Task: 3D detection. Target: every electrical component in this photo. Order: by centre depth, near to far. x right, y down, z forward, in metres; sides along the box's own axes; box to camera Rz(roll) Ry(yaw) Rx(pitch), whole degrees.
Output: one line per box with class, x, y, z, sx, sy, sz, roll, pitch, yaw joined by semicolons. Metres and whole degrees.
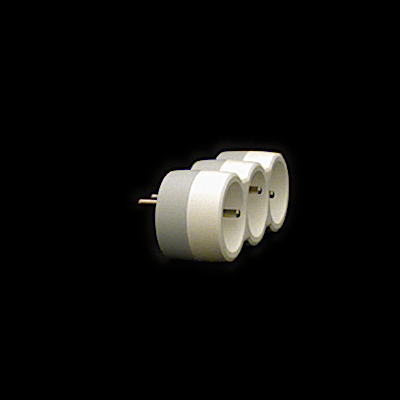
electrical component;0.000;0.000;0.654;0.073;0.052;0.138;4;11;20
